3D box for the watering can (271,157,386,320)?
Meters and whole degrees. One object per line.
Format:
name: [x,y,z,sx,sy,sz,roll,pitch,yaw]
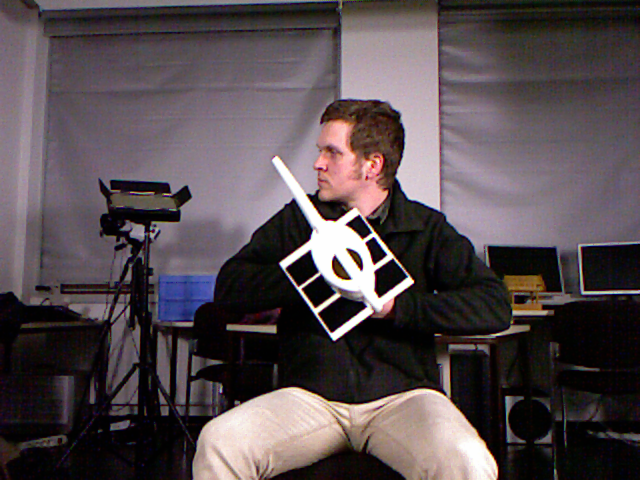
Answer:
watering can: [0.021,0.003,0.994,0.105,0.352,0.223,-33,-14,-3]
